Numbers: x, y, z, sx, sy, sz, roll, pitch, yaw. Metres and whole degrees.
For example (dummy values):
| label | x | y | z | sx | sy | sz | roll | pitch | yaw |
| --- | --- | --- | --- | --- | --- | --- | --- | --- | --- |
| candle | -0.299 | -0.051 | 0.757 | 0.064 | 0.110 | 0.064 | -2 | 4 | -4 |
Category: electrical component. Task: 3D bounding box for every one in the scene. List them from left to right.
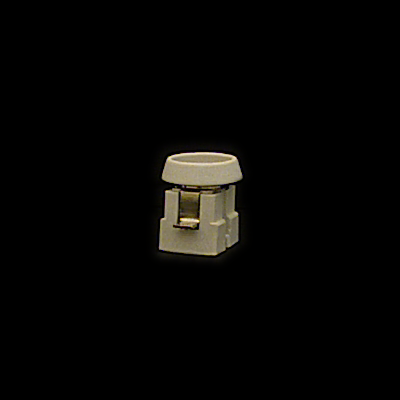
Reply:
| label | x | y | z | sx | sy | sz | roll | pitch | yaw |
| --- | --- | --- | --- | --- | --- | --- | --- | --- | --- |
| electrical component | 0.000 | 0.000 | 0.650 | 0.048 | 0.056 | 0.066 | 3 | 11 | 18 |
